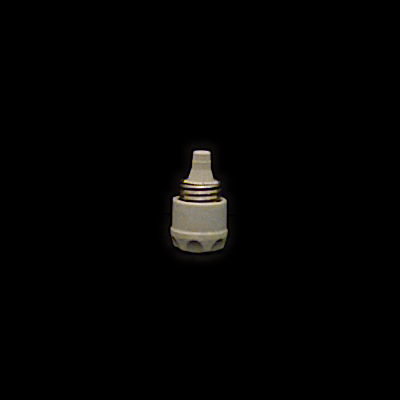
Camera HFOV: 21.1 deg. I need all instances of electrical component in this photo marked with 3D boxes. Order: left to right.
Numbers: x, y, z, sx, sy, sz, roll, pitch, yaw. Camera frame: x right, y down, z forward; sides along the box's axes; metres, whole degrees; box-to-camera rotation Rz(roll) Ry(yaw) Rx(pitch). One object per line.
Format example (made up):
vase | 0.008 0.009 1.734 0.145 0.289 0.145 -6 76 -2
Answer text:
electrical component | 0.000 0.000 0.659 0.035 0.062 0.035 2 13 0
